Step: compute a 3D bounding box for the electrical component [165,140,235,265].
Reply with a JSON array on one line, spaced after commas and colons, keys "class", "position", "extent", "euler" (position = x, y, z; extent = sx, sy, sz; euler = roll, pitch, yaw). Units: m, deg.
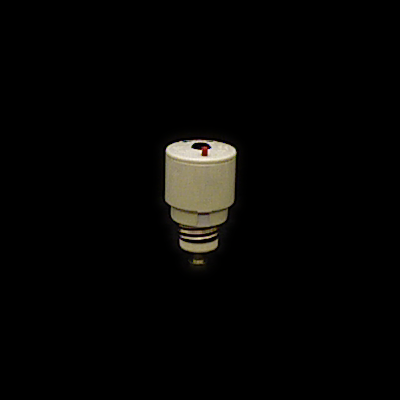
[{"class": "electrical component", "position": [0.000, 0.000, 0.633], "extent": [0.040, 0.079, 0.039], "euler": [1, 22, 0]}]
